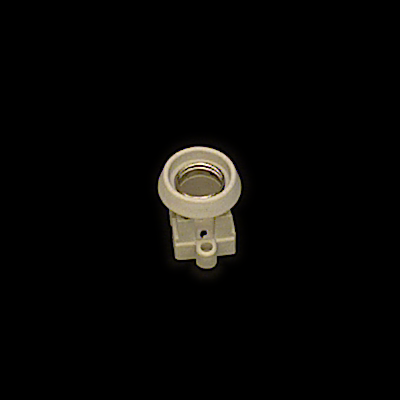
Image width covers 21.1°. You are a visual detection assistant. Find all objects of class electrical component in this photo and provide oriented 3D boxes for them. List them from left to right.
[{"bbox_3d":[0.000,0.000,0.638,0.048,0.066,0.056,-6,-37,-7],"label":"electrical component"}]
